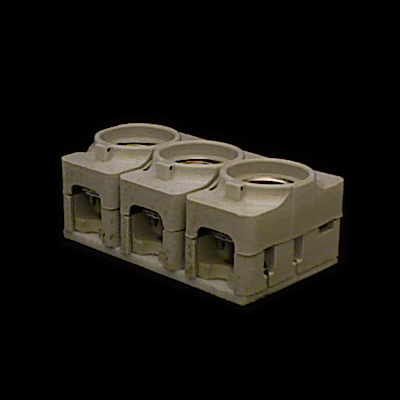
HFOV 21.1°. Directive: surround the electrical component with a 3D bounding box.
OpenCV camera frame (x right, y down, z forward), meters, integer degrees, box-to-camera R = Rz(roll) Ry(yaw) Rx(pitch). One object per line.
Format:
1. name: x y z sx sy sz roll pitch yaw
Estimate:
1. electrical component: 0.000 0.000 0.643 0.148 0.063 0.089 17 27 38
